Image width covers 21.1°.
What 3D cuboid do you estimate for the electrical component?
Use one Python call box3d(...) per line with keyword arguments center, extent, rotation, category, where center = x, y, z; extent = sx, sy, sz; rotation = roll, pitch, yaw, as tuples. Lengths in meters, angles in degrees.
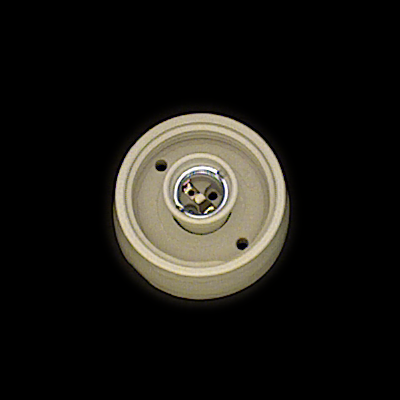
box3d(center=(0.000, 0.000, 0.633), extent=(0.108, 0.108, 0.060), rotation=(0, -16, 0), category="electrical component")
